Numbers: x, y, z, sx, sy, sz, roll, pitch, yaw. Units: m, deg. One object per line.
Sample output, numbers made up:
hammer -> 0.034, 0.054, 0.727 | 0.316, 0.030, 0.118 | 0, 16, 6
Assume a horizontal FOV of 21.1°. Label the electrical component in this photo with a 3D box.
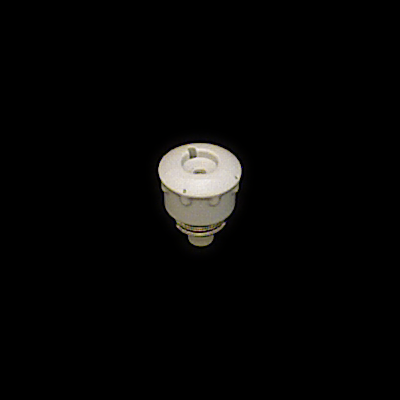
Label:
electrical component -> 0.000, 0.000, 0.637 | 0.048, 0.062, 0.047 | 1, 42, 0
